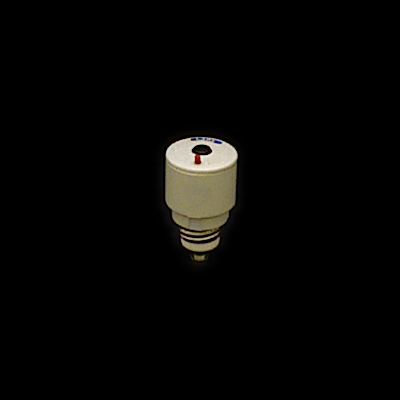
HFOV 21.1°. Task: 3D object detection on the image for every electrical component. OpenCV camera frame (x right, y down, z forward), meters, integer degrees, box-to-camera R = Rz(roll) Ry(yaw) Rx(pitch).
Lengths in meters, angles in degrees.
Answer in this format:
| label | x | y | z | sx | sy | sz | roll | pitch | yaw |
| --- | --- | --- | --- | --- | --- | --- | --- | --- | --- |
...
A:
| label | x | y | z | sx | sy | sz | roll | pitch | yaw |
| --- | --- | --- | --- | --- | --- | --- | --- | --- | --- |
| electrical component | 0.000 | 0.000 | 0.627 | 0.040 | 0.079 | 0.039 | 1 | 32 | 0 |
